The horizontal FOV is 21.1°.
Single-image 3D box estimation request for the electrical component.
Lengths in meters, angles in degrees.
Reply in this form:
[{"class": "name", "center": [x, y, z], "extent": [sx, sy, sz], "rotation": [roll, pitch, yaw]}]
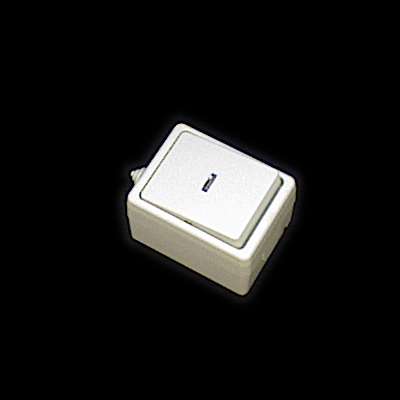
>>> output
[{"class": "electrical component", "center": [0.000, 0.000, 0.627], "extent": [0.096, 0.062, 0.061], "rotation": [27, -24, 13]}]
